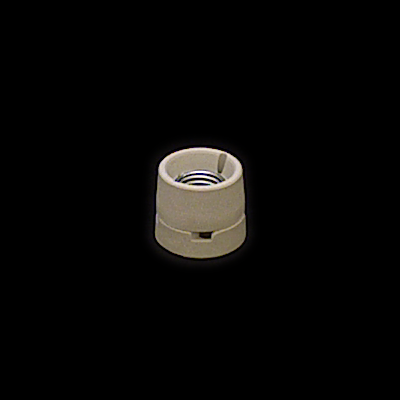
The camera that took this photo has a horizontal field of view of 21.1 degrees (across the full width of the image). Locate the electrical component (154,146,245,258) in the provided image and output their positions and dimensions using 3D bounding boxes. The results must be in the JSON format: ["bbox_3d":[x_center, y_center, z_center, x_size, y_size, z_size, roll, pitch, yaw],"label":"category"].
[{"bbox_3d":[0.000,0.000,0.637,0.055,0.047,0.055,0,32,0],"label":"electrical component"}]
